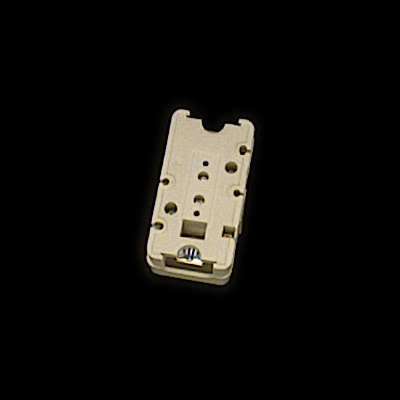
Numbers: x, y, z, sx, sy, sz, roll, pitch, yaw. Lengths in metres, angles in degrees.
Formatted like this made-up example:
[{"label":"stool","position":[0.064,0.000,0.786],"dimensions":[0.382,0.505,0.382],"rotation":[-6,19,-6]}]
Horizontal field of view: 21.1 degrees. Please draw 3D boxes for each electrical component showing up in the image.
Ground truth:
[{"label":"electrical component","position":[0.000,0.000,0.636],"dimensions":[0.050,0.090,0.055],"rotation":[10,-15,3]}]
